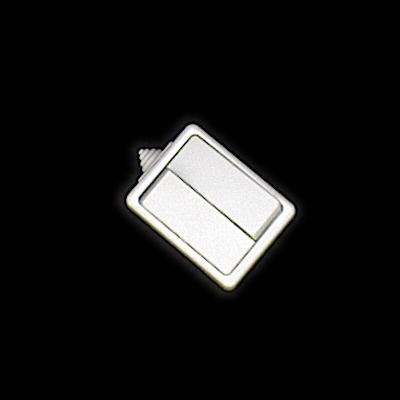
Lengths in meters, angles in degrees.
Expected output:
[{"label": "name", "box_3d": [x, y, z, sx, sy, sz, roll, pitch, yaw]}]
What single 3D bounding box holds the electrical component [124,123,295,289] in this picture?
[{"label": "electrical component", "box_3d": [0.000, 0.000, 0.627, 0.096, 0.062, 0.061, 40, -5, 5]}]
